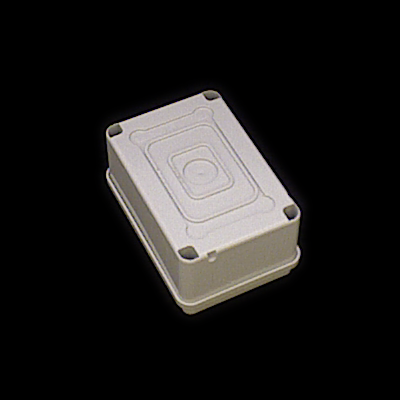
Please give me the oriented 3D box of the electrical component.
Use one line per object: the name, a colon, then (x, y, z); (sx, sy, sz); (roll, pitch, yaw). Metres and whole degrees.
electrical component: (0.000, 0.000, 0.629); (0.078, 0.112, 0.057); (-21, -35, -16)
